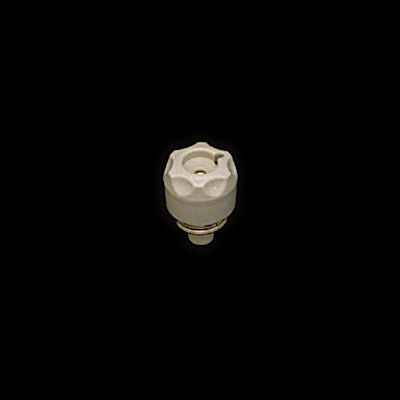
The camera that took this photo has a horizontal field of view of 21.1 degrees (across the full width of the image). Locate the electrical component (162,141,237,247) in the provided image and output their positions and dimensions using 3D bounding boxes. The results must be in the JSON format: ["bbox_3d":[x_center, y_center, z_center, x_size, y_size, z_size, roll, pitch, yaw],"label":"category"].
[{"bbox_3d":[0.000,0.000,0.637,0.043,0.062,0.043,0,43,1],"label":"electrical component"}]
